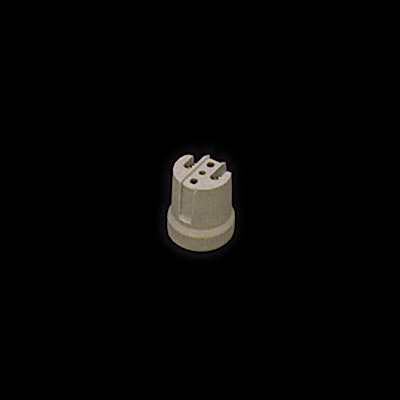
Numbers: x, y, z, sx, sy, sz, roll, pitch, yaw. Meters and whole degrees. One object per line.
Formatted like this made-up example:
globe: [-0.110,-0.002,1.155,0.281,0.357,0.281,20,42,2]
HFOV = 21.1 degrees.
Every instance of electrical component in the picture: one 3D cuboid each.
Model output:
electrical component: [0.000,0.000,0.636,0.040,0.046,0.040,1,43,0]
